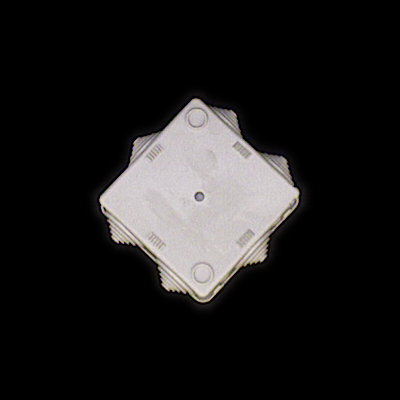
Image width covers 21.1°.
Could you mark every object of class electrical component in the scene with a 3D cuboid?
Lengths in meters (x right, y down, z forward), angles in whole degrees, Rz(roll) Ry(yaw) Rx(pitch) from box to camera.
[{"bbox_3d":[0.000,0.000,0.632,0.100,0.100,0.048,43,-5,4],"label":"electrical component"}]
